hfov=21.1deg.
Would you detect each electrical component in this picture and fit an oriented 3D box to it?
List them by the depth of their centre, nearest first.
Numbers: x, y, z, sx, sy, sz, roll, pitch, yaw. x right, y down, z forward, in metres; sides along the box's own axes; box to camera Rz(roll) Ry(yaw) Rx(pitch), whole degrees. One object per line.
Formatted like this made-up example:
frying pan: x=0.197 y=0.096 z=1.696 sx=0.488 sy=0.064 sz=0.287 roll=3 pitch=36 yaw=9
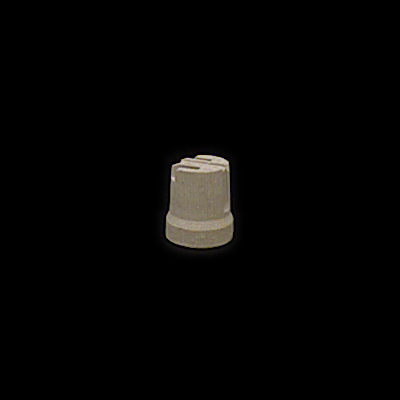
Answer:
electrical component: x=0.000 y=0.000 z=0.643 sx=0.040 sy=0.046 sz=0.040 roll=1 pitch=21 yaw=0
